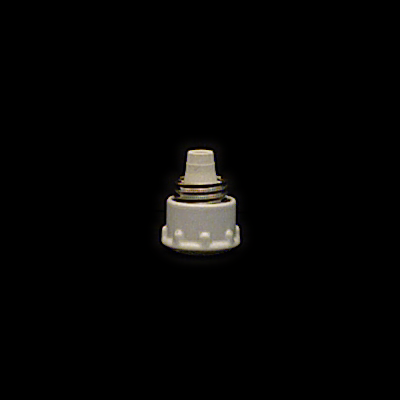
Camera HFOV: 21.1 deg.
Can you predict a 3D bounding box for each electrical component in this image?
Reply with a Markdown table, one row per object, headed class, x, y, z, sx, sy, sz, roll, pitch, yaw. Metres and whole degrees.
| class | x | y | z | sx | sy | sz | roll | pitch | yaw |
| --- | --- | --- | --- | --- | --- | --- | --- | --- | --- |
| electrical component | 0.000 | 0.000 | 0.649 | 0.048 | 0.062 | 0.048 | 0 | 12 | 1 |
